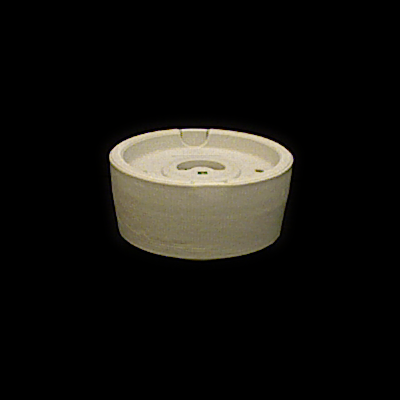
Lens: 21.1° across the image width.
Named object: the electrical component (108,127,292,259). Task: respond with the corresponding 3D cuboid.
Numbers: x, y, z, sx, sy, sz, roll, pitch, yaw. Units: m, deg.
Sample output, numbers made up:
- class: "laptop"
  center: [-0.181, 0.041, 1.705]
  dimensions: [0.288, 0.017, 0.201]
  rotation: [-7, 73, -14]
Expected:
- class: "electrical component"
  center: [0.000, 0.000, 0.643]
  dimensions: [0.108, 0.061, 0.106]
  rotation: [1, 21, 0]
